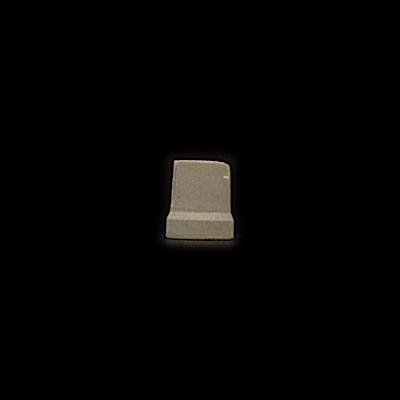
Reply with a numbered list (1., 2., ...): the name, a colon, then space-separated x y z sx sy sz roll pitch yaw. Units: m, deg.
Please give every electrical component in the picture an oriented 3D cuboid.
1. electrical component: 0.000 0.000 0.649 0.040 0.046 0.040 1 2 0
